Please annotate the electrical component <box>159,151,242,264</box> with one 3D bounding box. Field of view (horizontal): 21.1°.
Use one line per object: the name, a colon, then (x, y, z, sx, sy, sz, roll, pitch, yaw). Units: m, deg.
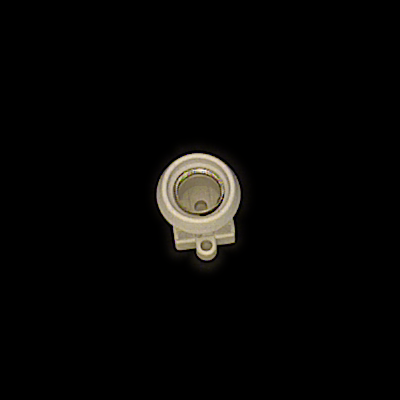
electrical component: (0.000, 0.000, 0.637, 0.048, 0.066, 0.055, -8, -16, -4)
